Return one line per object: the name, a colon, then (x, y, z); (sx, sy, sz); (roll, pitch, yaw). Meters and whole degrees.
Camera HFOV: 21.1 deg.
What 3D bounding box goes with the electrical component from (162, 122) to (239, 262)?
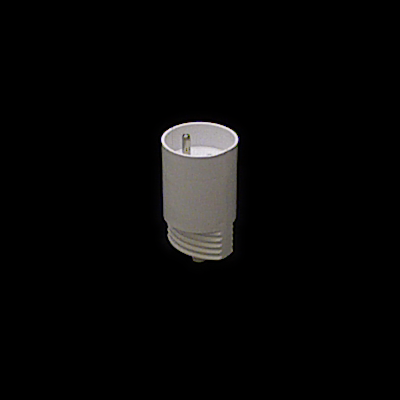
electrical component: (0.000, 0.000, 0.627); (0.043, 0.082, 0.042); (1, 31, 0)
